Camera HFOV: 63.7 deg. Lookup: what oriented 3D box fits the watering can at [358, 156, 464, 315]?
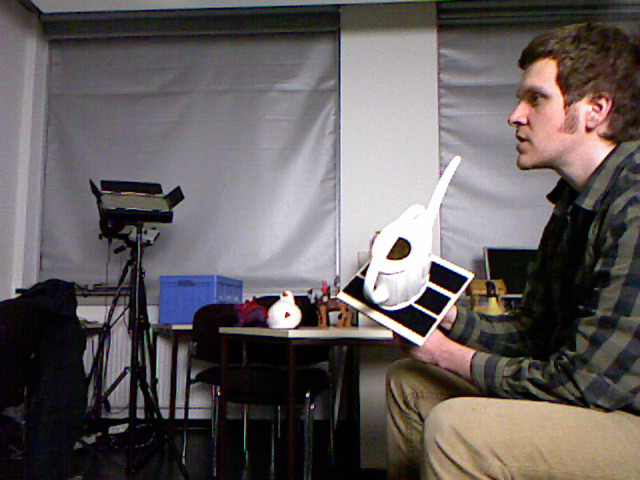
[{"bbox_3d":[0.189,0.006,1.017,0.105,0.354,0.220,29,-29,28],"label":"watering can"}]
